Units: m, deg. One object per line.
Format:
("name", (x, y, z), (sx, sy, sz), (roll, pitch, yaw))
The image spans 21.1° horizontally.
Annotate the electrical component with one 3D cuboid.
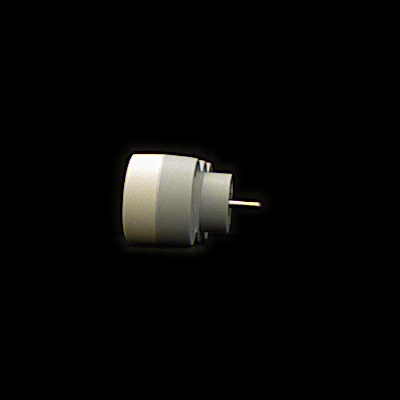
("electrical component", (0.000, 0.000, 0.655), (0.073, 0.052, 0.138), (3, 1, 5))
